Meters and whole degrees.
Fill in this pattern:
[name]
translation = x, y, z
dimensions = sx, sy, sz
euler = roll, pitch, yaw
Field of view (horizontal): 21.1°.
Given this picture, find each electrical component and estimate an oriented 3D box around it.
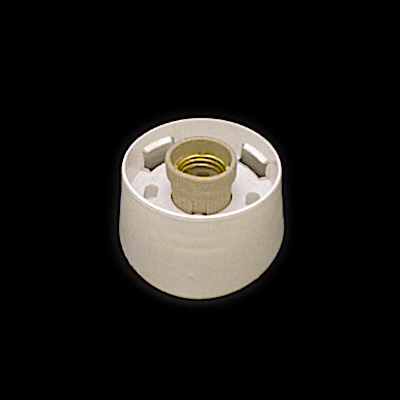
[electrical component]
translation = 0.000, 0.000, 0.630
dimensions = 0.099, 0.065, 0.098
euler = 1, 42, 0
